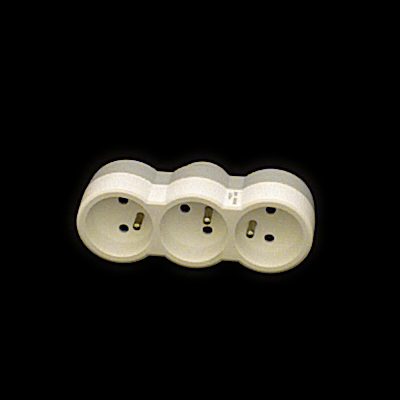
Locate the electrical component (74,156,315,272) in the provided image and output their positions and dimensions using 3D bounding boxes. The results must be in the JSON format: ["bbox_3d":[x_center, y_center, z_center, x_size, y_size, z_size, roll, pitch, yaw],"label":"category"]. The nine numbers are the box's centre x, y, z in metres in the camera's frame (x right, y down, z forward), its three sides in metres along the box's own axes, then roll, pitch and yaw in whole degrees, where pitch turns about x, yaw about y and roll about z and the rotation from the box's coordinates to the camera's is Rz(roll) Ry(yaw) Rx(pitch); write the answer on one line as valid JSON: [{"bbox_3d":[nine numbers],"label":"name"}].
[{"bbox_3d":[0.000,0.000,0.646,0.138,0.053,0.073,4,31,4],"label":"electrical component"}]
